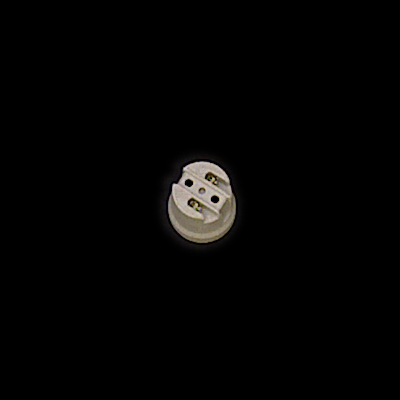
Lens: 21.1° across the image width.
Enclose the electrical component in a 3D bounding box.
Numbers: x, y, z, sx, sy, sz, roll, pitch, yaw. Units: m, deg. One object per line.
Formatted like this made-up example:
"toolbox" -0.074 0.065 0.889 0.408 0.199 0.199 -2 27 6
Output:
"electrical component" 0.000 0.000 0.633 0.040 0.040 0.046 0 -16 1
